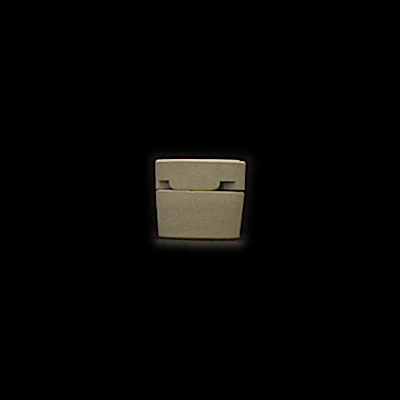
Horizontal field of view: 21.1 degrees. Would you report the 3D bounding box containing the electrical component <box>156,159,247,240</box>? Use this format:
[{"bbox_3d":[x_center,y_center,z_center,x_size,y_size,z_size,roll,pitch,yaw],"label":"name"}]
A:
[{"bbox_3d":[0.000,0.000,0.649,0.055,0.047,0.055,2,0,0],"label":"electrical component"}]
